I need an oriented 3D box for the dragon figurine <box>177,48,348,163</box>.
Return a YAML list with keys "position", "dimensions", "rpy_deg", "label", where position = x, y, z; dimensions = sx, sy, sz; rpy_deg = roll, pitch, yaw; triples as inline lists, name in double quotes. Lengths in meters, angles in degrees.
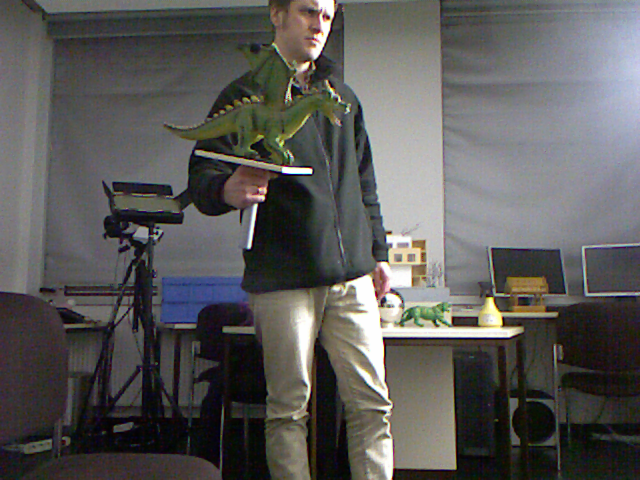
- position: [-0.141, -0.308, 1.165]
  dimensions: [0.411, 0.240, 0.123]
  rpy_deg: [15, 15, 14]
  label: "dragon figurine"
